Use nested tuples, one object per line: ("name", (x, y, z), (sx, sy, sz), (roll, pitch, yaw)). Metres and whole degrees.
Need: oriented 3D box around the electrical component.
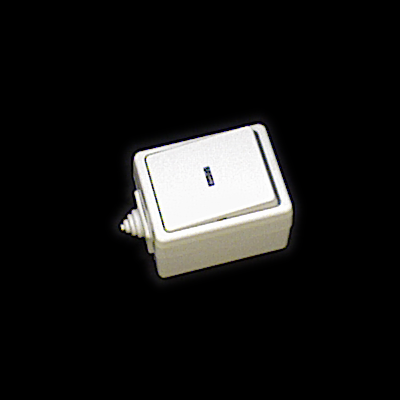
("electrical component", (0.000, 0.000, 0.626), (0.096, 0.062, 0.061), (-14, -27, -7))
